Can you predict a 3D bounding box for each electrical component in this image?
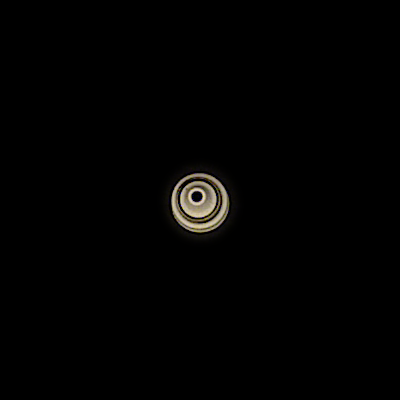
[{"bbox_3d":[0.000,0.000,0.637,0.035,0.035,0.061,0,-5,2],"label":"electrical component"}]
